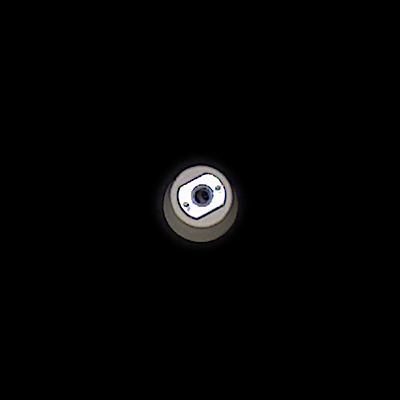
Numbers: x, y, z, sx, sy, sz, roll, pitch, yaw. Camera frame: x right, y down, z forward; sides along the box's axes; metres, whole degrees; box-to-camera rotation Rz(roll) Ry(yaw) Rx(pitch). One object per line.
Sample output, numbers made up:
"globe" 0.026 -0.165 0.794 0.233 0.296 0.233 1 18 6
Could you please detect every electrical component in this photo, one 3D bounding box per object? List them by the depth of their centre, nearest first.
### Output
"electrical component" 0.000 0.000 0.625 0.044 0.044 0.065 0 -5 0
